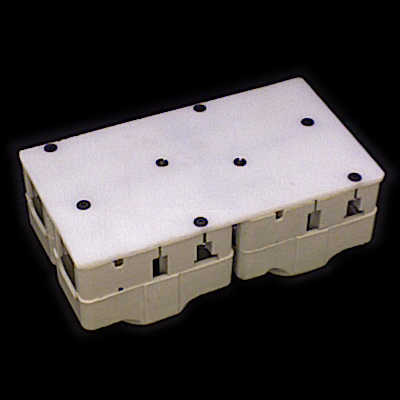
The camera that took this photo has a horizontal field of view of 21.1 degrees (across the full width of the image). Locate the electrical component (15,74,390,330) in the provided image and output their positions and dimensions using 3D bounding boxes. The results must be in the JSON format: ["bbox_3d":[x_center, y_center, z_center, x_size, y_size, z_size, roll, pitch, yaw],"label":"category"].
[{"bbox_3d":[0.000,0.000,0.630,0.186,0.061,0.104,-16,45,-18],"label":"electrical component"}]
